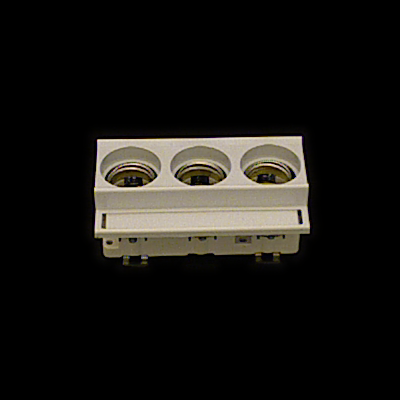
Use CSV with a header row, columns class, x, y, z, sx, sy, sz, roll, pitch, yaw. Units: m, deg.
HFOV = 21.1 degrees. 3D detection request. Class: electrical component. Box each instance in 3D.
class,x,y,z,sx,sy,sz,roll,pitch,yaw
electrical component,0.000,0.000,0.642,0.121,0.063,0.077,-1,44,-1
